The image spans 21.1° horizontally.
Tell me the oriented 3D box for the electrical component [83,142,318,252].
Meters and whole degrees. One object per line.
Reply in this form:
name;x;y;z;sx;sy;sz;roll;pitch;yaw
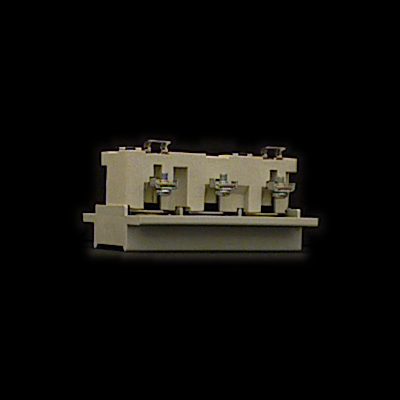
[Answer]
electrical component;0.000;0.000;0.659;0.122;0.063;0.078;1;0;-30
